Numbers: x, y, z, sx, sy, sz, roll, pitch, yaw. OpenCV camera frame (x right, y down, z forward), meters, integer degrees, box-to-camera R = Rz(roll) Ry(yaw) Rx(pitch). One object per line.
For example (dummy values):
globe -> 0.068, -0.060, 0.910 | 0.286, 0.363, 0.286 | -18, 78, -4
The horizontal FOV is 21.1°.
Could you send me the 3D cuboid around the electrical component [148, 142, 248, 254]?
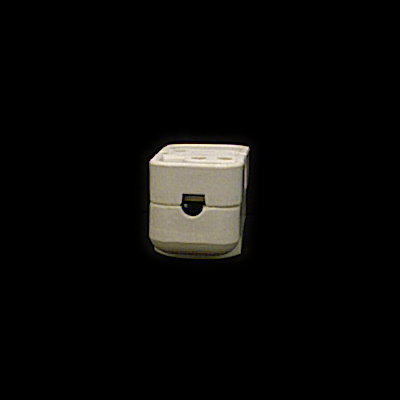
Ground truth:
electrical component -> 0.000, 0.000, 0.652 | 0.053, 0.060, 0.094 | 2, 10, 5
